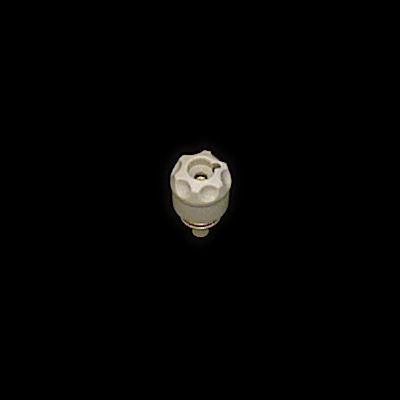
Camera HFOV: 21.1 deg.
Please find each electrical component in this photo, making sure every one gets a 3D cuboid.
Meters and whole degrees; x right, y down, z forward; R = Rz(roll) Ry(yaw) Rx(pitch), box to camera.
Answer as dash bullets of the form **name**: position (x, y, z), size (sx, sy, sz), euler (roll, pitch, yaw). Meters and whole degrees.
- **electrical component**: position (0.000, 0.000, 0.635), size (0.035, 0.035, 0.061), euler (0, -37, 0)
